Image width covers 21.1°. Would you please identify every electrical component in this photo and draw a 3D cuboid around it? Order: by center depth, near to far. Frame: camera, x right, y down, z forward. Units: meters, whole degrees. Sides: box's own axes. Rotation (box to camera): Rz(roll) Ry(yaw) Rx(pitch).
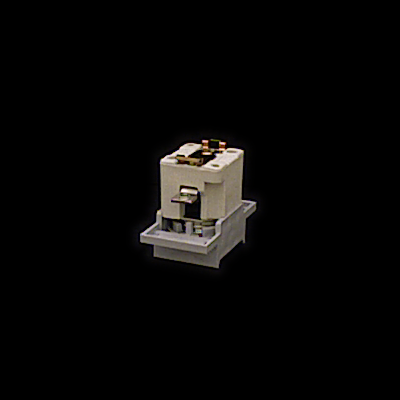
[{"bbox_3d":[0.000,0.000,0.639,0.042,0.064,0.080,9,23,20],"label":"electrical component"}]
